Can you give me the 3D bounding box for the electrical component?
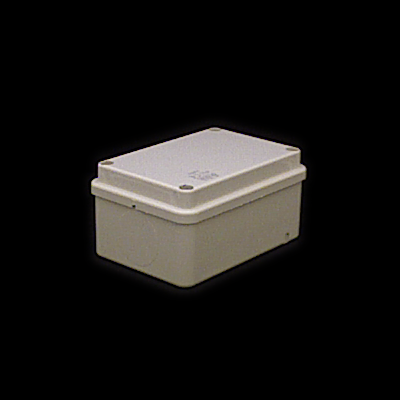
[{"bbox_3d":[0.000,0.000,0.637,0.077,0.058,0.113,18,26,37],"label":"electrical component"}]
